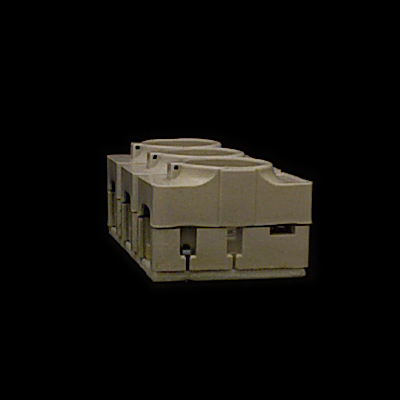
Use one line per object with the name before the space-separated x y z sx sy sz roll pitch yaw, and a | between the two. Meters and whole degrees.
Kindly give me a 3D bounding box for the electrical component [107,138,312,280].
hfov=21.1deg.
electrical component | 0.000 0.000 0.649 0.090 0.062 0.148 -2 10 -15
